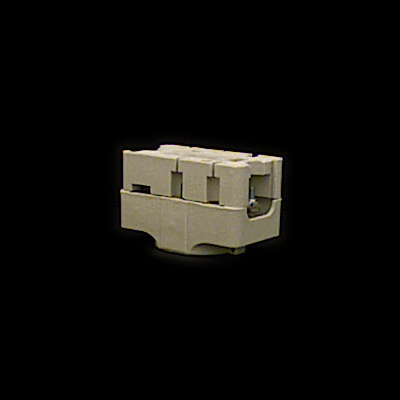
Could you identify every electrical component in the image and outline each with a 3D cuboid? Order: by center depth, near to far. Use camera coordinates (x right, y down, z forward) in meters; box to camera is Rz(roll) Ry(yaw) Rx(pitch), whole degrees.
[{"bbox_3d":[0.000,0.000,0.652,0.088,0.056,0.050,10,14,35],"label":"electrical component"}]
